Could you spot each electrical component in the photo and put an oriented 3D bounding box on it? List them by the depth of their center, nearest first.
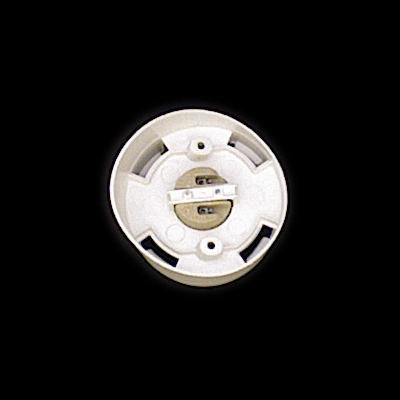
[{"bbox_3d":[0.000,0.000,0.623,0.099,0.099,0.064,0,-16,1],"label":"electrical component"}]
